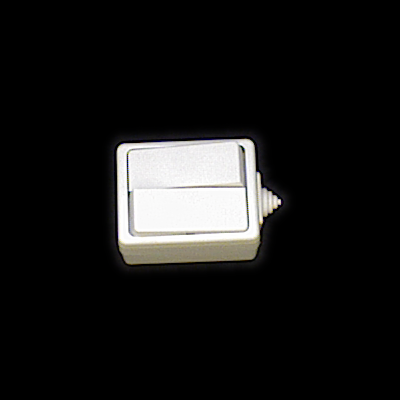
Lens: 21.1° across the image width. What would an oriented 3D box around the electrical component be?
[{"bbox_3d":[0.000,0.000,0.626,0.096,0.062,0.060,-2,-17,-1],"label":"electrical component"}]
